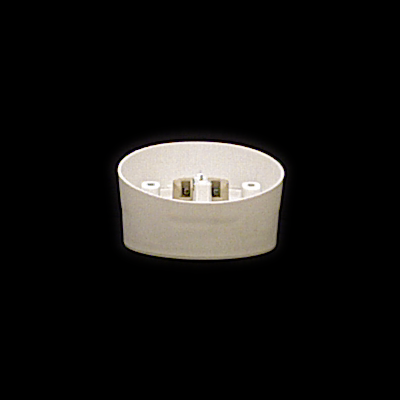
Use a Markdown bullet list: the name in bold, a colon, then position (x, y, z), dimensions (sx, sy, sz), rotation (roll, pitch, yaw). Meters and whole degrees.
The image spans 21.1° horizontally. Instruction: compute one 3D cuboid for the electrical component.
- **electrical component**: position (0.000, 0.000, 0.644), dimensions (0.099, 0.064, 0.098), rotation (1, 9, 0)
